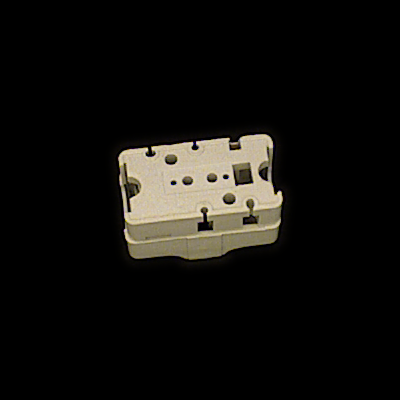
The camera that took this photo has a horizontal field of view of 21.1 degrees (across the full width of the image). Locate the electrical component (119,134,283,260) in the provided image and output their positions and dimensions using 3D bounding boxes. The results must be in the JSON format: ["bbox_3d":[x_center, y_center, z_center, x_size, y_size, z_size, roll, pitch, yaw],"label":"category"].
[{"bbox_3d":[0.000,0.000,0.636,0.090,0.050,0.055,-6,-27,-4],"label":"electrical component"}]
